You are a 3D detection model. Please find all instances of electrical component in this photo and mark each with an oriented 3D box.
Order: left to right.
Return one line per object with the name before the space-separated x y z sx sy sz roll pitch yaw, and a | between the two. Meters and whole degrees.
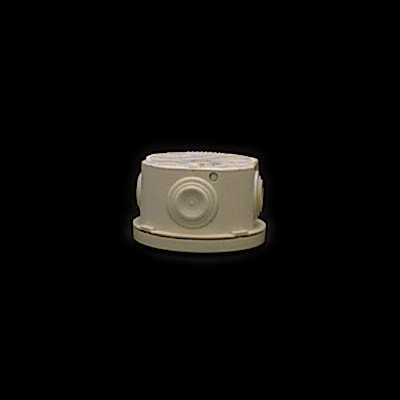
electrical component | 0.000 0.000 0.644 0.080 0.051 0.079 2 11 0
